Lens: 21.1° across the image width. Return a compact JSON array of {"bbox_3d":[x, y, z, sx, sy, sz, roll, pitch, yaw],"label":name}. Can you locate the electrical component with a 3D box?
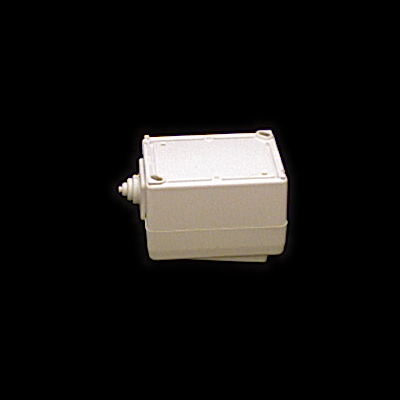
[{"bbox_3d":[0.000,0.000,0.637,0.096,0.061,0.061,-3,32,-4],"label":"electrical component"}]
